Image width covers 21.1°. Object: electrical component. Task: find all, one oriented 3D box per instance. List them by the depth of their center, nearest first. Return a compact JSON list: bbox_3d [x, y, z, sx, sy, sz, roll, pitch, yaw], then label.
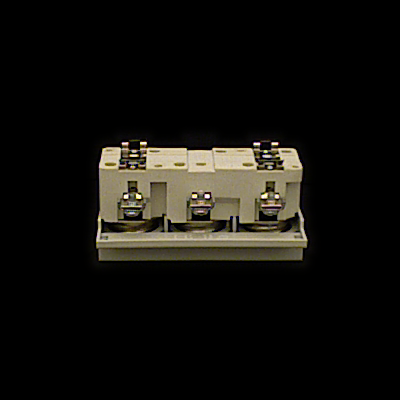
[{"bbox_3d":[0.000,0.000,0.649,0.121,0.064,0.077,0,21,-3],"label":"electrical component"}]
